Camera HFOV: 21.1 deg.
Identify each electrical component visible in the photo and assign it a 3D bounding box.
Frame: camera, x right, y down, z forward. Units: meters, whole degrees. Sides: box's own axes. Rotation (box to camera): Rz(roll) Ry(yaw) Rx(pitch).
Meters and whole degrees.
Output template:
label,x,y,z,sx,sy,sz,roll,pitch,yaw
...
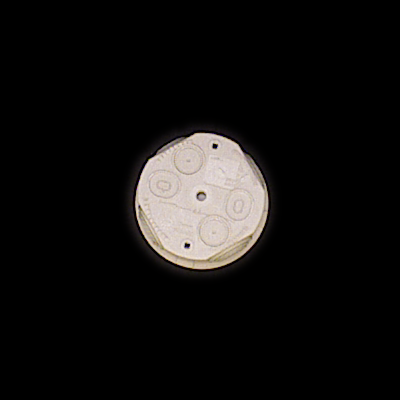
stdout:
label,x,y,z,sx,sy,sz,roll,pitch,yaw
electrical component,0.000,0.000,0.633,0.080,0.080,0.050,0,-7,0
